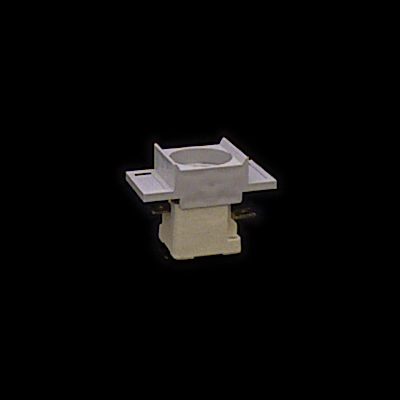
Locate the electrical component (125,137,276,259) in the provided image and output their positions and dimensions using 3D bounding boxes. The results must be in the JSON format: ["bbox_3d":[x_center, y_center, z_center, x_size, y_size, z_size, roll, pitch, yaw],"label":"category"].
[{"bbox_3d":[0.000,0.000,0.639,0.081,0.064,0.041,-6,21,-17],"label":"electrical component"}]
